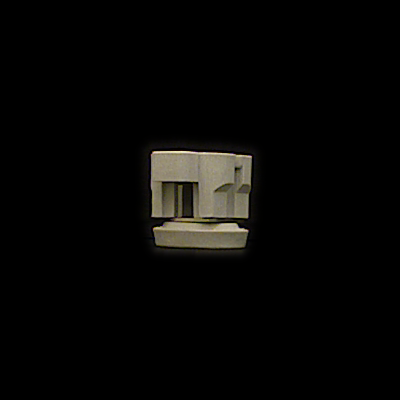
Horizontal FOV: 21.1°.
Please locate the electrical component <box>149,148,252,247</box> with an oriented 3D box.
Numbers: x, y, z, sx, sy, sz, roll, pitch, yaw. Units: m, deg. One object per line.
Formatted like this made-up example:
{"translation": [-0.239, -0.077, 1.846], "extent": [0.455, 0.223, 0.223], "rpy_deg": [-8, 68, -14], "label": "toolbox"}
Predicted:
{"translation": [0.000, 0.000, 0.659], "extent": [0.057, 0.057, 0.079], "rpy_deg": [1, -1, 30], "label": "electrical component"}
